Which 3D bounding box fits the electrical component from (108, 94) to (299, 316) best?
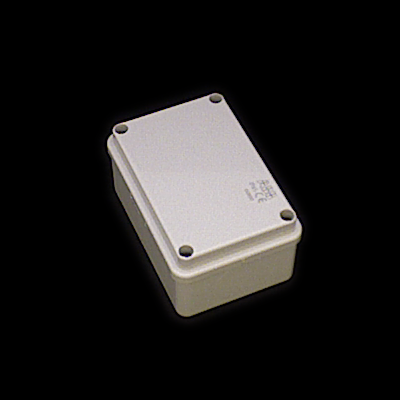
[{"bbox_3d":[0.000,0.000,0.629,0.078,0.112,0.057,-19,-35,-15],"label":"electrical component"}]
